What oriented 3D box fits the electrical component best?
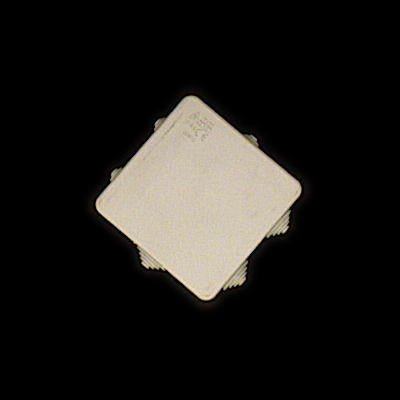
[{"bbox_3d":[0.000,0.000,0.642,0.099,0.100,0.048,40,-5,4],"label":"electrical component"}]
